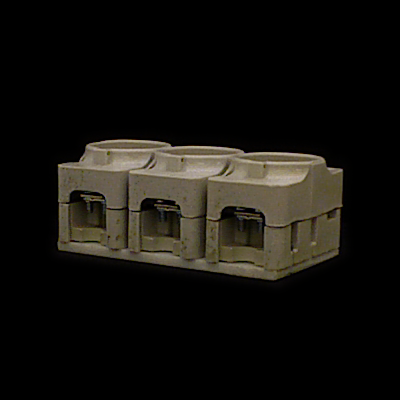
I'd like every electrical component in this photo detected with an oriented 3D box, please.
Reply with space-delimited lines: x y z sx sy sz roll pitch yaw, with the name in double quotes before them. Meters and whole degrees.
"electrical component" 0.000 0.000 0.649 0.149 0.062 0.089 6 12 29
